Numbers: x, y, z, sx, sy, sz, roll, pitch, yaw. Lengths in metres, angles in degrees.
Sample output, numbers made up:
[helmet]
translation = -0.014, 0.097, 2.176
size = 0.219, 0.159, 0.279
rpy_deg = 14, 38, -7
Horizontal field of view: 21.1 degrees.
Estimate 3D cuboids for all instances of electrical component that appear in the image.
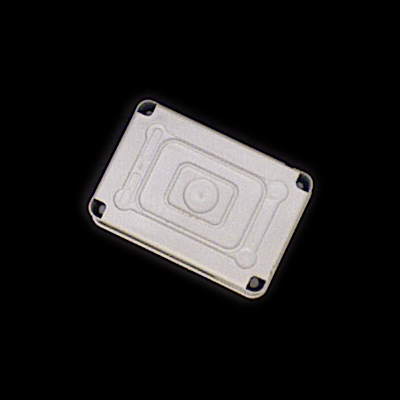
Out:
[electrical component]
translation = 0.000, 0.000, 0.629
size = 0.113, 0.078, 0.057
rpy_deg = 26, -5, 3
